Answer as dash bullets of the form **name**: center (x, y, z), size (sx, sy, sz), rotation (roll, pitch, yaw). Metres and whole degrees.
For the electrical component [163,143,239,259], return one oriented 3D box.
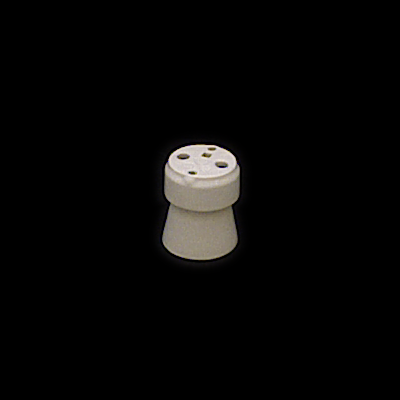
- **electrical component**: center (0.000, 0.000, 0.635), size (0.045, 0.056, 0.044), rotation (1, 32, 0)
